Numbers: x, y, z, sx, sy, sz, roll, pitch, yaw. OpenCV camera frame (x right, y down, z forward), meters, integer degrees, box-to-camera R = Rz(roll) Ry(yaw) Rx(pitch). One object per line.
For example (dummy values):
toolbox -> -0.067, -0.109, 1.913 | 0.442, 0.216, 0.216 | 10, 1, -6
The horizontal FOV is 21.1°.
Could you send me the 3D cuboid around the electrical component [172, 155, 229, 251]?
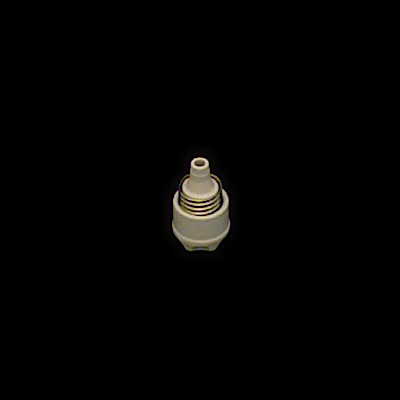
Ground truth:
electrical component -> 0.000, 0.000, 0.642 | 0.035, 0.062, 0.035 | -1, 43, 1
